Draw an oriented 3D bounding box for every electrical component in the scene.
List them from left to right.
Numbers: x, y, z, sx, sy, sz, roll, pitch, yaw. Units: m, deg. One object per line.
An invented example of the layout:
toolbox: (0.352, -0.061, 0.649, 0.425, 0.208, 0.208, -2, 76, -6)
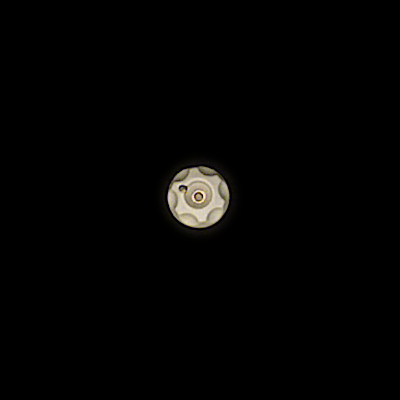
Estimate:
electrical component: (0.000, 0.000, 0.635, 0.035, 0.035, 0.061, 0, -6, 1)
